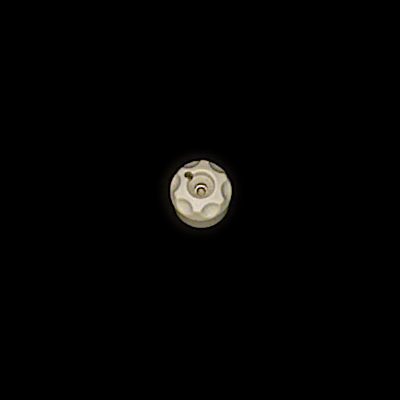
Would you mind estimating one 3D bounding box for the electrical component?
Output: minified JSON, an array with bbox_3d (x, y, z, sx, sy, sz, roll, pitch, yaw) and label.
[{"bbox_3d":[0.000,0.000,0.634,0.035,0.035,0.061,0,-16,1],"label":"electrical component"}]
